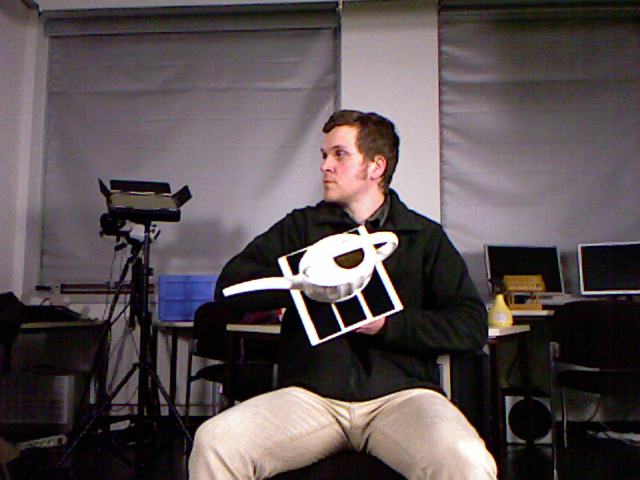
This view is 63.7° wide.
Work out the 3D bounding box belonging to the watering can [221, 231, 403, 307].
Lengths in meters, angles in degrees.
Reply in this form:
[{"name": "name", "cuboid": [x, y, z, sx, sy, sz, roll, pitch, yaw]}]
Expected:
[{"name": "watering can", "cuboid": [-0.006, 0.066, 1.000, 0.349, 0.106, 0.221, -19, -22, -5]}]
